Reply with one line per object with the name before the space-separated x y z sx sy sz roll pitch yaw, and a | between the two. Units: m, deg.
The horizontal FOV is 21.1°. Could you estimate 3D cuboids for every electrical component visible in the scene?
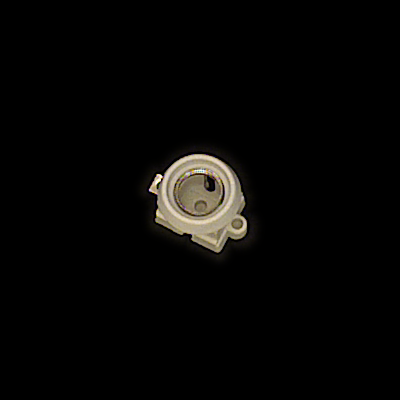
electrical component | 0.000 0.000 0.637 0.066 0.049 0.055 25 -16 7
